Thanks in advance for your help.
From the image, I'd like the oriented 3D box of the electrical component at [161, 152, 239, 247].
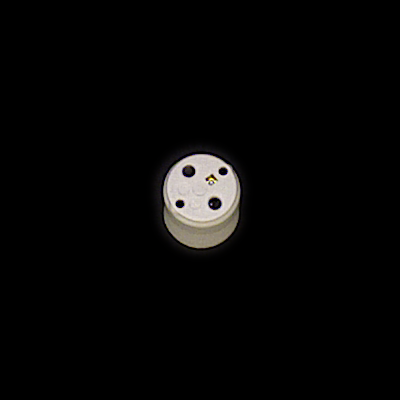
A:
[{"bbox_3d":[0.000,0.000,0.628,0.045,0.045,0.055,0,-16,0],"label":"electrical component"}]
